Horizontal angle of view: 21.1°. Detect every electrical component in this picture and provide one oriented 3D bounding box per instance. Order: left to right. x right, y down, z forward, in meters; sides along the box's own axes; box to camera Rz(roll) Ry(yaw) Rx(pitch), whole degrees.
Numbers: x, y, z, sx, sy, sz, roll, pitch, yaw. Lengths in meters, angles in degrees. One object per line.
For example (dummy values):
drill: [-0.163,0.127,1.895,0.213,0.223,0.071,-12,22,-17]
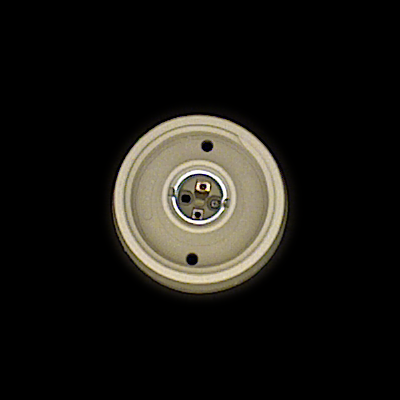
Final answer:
electrical component: [0.000,0.000,0.635,0.108,0.108,0.060,0,-6,0]
